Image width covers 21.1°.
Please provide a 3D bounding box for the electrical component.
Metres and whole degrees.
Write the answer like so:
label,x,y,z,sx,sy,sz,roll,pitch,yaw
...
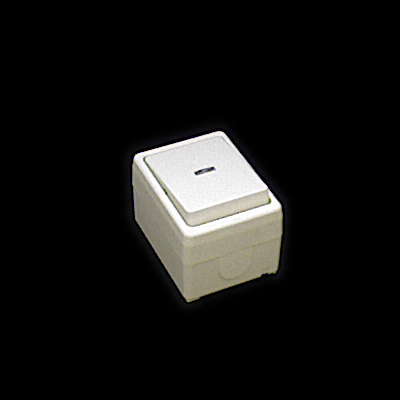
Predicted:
label,x,y,z,sx,sy,sz,roll,pitch,yaw
electrical component,0.000,0.000,0.632,0.062,0.061,0.095,-17,45,-19
